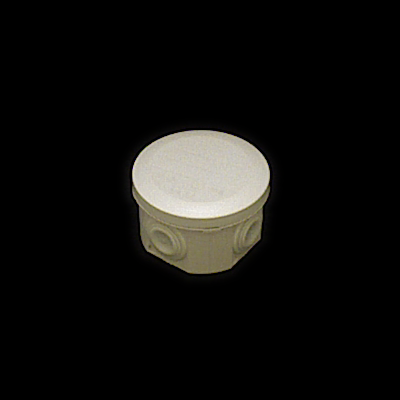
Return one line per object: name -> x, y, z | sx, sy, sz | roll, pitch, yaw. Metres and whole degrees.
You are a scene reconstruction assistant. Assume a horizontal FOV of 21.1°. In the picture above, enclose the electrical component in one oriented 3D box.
electrical component -> 0.000, 0.000, 0.634 | 0.080, 0.051, 0.079 | 1, 42, 0
